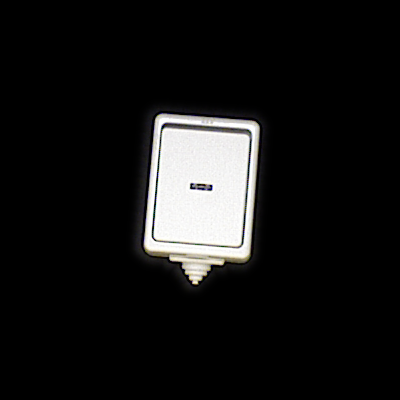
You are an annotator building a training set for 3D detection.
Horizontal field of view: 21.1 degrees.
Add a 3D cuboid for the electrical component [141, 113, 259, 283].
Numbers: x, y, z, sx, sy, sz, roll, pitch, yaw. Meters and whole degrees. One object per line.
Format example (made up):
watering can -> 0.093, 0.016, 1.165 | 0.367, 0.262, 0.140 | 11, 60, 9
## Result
electrical component -> 0.000, 0.000, 0.626 | 0.062, 0.096, 0.061 | 5, -7, 1
